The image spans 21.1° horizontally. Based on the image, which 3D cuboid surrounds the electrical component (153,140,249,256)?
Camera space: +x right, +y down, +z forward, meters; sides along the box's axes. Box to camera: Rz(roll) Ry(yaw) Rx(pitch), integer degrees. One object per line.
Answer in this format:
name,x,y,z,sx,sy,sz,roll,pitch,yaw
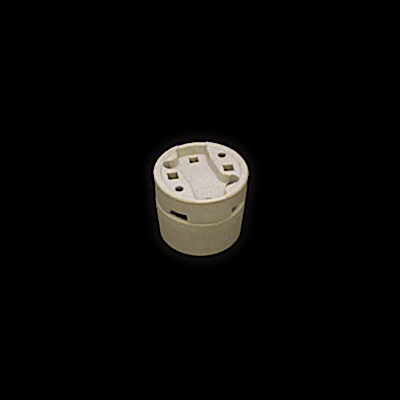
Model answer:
electrical component,0.000,0.000,0.636,0.055,0.047,0.055,1,42,0
